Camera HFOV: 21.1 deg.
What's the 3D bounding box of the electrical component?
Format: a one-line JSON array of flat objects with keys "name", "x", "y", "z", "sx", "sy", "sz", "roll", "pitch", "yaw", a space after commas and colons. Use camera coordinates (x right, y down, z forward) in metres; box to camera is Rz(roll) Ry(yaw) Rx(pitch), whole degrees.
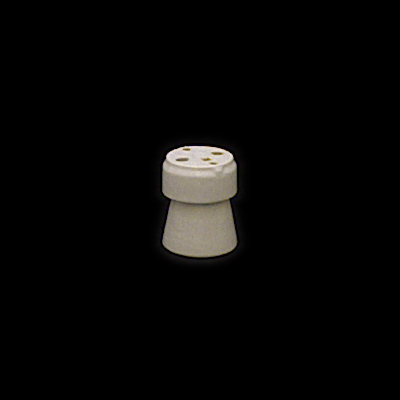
[{"name": "electrical component", "x": 0.000, "y": 0.000, "z": 0.639, "sx": 0.045, "sy": 0.056, "sz": 0.044, "roll": 1, "pitch": 21, "yaw": 0}]
